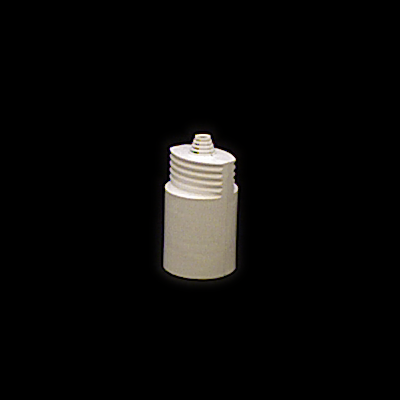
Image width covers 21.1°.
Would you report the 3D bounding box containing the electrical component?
[{"bbox_3d":[0.000,0.000,0.634,0.043,0.082,0.042,1,21,0],"label":"electrical component"}]
